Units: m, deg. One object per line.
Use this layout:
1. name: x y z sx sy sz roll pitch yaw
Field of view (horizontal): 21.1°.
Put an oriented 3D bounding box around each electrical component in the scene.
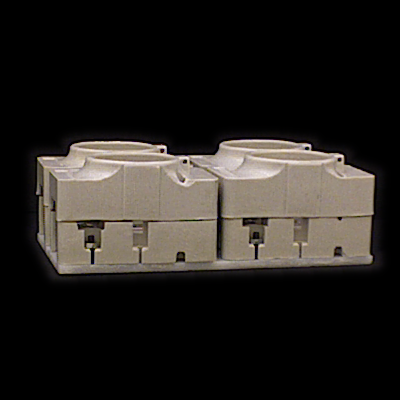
1. electrical component: 0.000 0.000 0.645 0.186 0.060 0.104 -1 10 -15
